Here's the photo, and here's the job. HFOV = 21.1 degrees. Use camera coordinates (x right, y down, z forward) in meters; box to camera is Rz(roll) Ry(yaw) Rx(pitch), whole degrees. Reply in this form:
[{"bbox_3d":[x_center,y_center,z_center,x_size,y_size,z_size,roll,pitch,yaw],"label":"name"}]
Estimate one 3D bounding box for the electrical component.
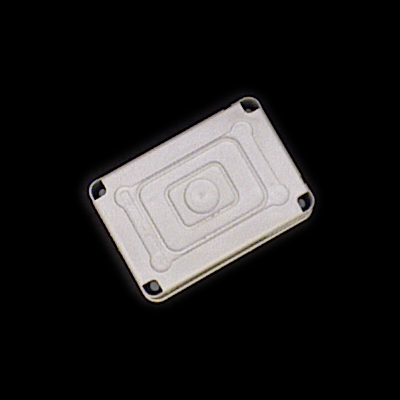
[{"bbox_3d":[0.000,0.000,0.628,0.113,0.078,0.057,-29,-6,-2],"label":"electrical component"}]
